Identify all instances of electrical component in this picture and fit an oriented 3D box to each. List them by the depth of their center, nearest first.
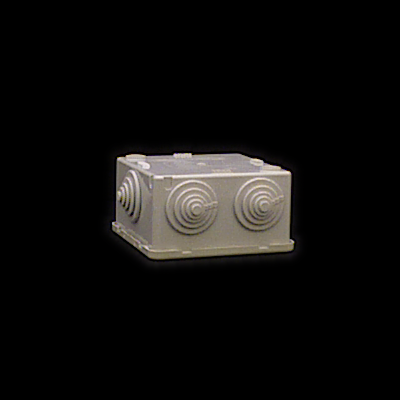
[{"bbox_3d":[0.000,0.000,0.644,0.100,0.049,0.099,-3,11,-19],"label":"electrical component"}]
